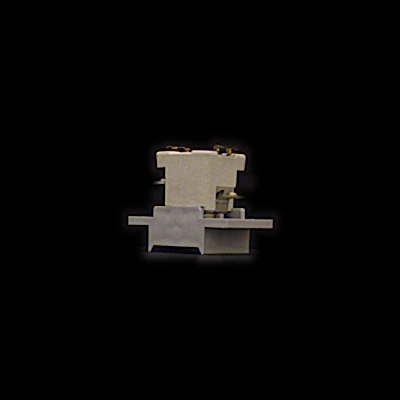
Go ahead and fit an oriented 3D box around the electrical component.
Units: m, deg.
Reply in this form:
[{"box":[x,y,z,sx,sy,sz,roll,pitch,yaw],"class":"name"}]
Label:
[{"box":[0.000,0.000,0.650,0.080,0.064,0.042,1,1,41],"class":"electrical component"}]
